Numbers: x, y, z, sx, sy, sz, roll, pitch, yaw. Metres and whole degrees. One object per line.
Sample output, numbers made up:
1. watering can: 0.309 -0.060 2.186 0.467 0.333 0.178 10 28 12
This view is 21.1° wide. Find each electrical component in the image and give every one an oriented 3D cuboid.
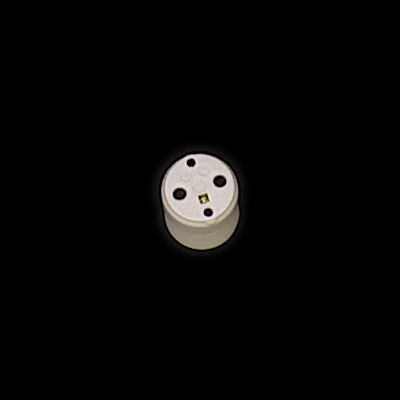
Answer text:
1. electrical component: 0.000 0.000 0.628 0.045 0.045 0.055 0 -17 1
